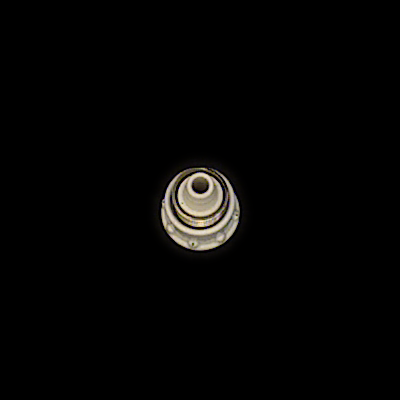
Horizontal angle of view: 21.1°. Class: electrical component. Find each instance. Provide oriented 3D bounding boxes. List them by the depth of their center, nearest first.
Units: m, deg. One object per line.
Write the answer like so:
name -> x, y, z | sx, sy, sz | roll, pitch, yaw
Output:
electrical component -> 0.000, 0.000, 0.634 | 0.048, 0.048, 0.061 | 0, -17, -1
